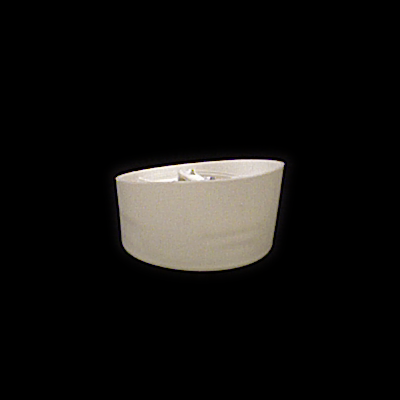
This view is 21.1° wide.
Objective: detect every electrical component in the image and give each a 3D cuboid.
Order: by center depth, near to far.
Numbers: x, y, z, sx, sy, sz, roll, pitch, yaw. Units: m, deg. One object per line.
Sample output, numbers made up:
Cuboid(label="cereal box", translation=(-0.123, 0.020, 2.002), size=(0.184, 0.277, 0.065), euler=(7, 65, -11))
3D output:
Cuboid(label="electrical component", translation=(0.000, 0.000, 0.637), size=(0.099, 0.065, 0.097), euler=(2, 21, -1))
